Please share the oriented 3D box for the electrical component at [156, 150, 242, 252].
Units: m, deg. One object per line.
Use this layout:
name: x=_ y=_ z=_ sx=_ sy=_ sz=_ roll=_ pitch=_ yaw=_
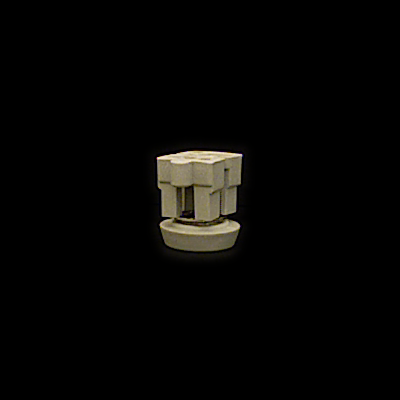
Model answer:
electrical component: x=0.000 y=0.000 z=0.650 sx=0.048 sy=0.056 sz=0.066 roll=6 pitch=11 yaw=25
